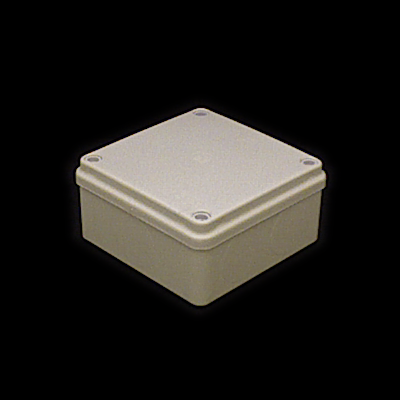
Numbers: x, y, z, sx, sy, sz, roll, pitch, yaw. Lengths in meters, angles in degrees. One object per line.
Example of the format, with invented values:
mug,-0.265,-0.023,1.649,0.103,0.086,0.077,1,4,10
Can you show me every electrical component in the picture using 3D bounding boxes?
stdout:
electrical component,0.000,0.000,0.637,0.107,0.057,0.108,28,40,37
